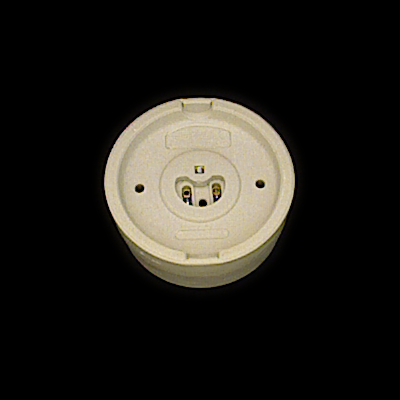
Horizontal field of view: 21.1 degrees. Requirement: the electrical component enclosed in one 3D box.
[{"bbox_3d":[0.000,0.000,0.635,0.108,0.108,0.060,0,-26,0],"label":"electrical component"}]
